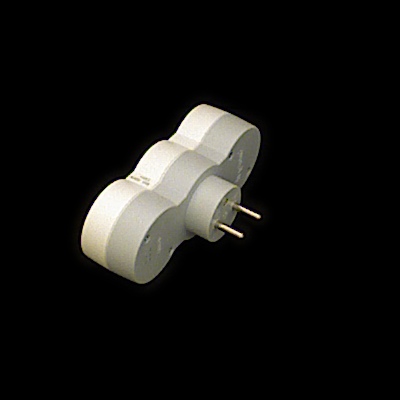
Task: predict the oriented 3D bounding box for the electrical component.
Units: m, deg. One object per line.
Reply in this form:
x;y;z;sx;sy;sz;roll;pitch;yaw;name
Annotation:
0.000;0.000;0.639;0.073;0.052;0.138;26;48;22;electrical component
